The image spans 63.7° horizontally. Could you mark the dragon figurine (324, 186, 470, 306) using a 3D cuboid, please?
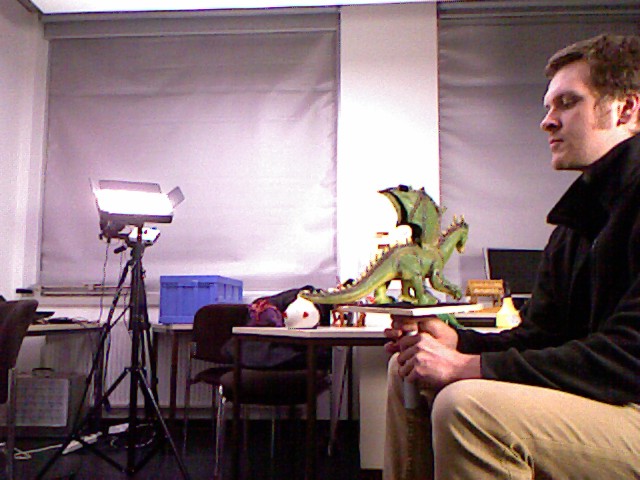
[{"bbox_3d":[0.180,0.010,1.053,0.410,0.244,0.122,3,-4,-38],"label":"dragon figurine"}]
